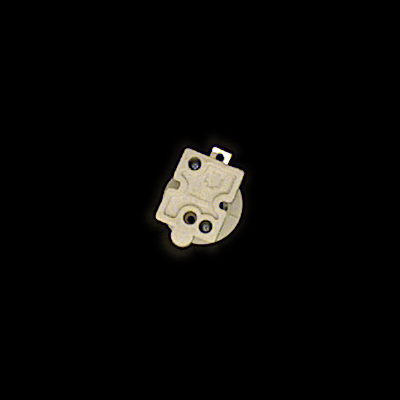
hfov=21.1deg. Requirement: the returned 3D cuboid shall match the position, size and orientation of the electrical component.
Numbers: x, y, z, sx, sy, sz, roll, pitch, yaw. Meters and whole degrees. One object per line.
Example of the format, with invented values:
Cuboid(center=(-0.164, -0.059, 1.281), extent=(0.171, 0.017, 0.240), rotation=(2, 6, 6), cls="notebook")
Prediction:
Cuboid(center=(0.000, 0.000, 0.638), extent=(0.048, 0.067, 0.055), rotation=(24, -6, 4), cls="electrical component")
